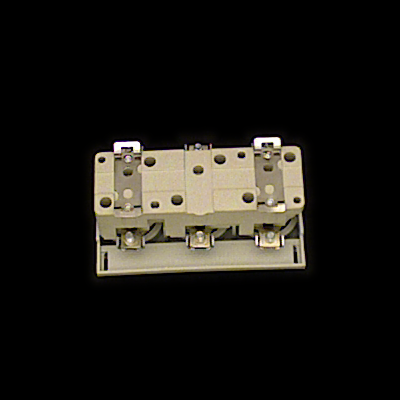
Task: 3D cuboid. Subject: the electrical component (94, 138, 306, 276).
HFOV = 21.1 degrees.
[{"bbox_3d":[0.000,0.000,0.632,0.121,0.079,0.063,-2,-26,-1],"label":"electrical component"}]
